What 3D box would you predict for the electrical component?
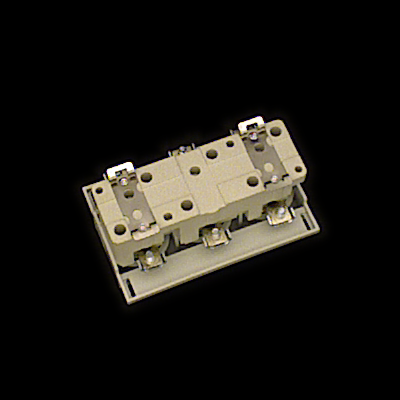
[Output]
[{"bbox_3d":[0.000,0.000,0.632,0.122,0.078,0.063,-20,-24,-10],"label":"electrical component"}]
